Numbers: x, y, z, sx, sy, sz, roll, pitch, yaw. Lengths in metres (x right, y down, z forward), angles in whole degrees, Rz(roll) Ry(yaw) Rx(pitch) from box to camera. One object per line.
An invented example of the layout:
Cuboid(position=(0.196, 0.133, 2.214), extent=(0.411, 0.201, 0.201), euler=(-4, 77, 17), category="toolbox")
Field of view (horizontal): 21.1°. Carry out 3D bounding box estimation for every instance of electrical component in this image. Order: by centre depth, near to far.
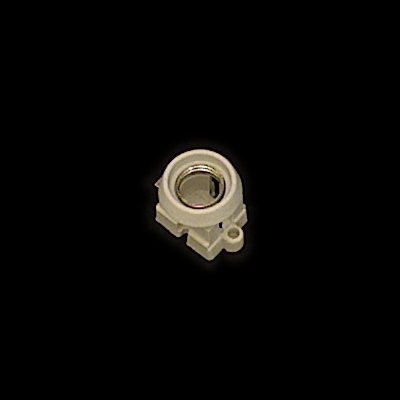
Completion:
Cuboid(position=(0.000, 0.000, 0.637), extent=(0.066, 0.049, 0.055), euler=(35, -23, 16), category="electrical component")
